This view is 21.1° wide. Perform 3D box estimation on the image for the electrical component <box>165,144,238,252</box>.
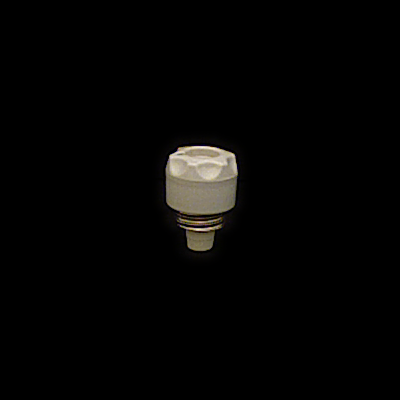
[{"bbox_3d":[0.000,0.000,0.647,0.043,0.063,0.043,2,22,0],"label":"electrical component"}]
